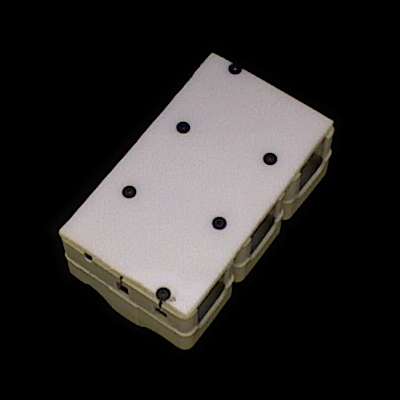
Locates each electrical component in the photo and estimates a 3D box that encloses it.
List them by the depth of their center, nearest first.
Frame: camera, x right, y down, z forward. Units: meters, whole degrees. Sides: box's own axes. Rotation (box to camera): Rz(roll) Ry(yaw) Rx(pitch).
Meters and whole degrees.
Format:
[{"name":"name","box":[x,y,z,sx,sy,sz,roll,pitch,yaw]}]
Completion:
[{"name":"electrical component","box":[0.000,0.000,0.633,0.089,0.149,0.062,33,-23,15]}]
